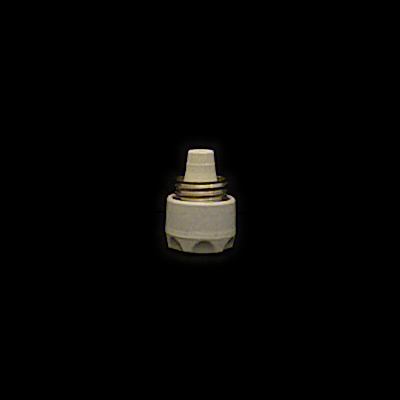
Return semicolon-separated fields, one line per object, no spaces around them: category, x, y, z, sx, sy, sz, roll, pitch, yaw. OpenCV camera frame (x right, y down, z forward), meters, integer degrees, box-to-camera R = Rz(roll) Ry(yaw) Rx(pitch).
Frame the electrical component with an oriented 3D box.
electrical component;0.000;0.000;0.652;0.043;0.062;0.043;1;11;0
